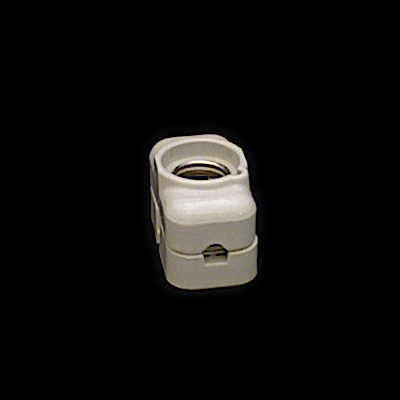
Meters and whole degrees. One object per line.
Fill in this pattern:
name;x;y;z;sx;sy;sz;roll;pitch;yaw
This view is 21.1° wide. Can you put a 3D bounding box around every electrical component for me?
electrical component;0.000;0.000;0.641;0.054;0.060;0.093;-5;33;-9
